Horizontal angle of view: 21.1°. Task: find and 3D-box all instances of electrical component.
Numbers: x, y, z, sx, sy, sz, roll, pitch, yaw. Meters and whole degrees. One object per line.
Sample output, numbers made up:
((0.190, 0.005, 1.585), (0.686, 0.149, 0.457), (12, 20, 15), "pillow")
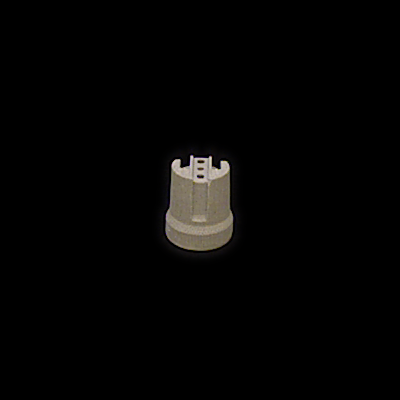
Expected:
((0.000, 0.000, 0.639), (0.040, 0.046, 0.040), (1, 32, -1), "electrical component")
